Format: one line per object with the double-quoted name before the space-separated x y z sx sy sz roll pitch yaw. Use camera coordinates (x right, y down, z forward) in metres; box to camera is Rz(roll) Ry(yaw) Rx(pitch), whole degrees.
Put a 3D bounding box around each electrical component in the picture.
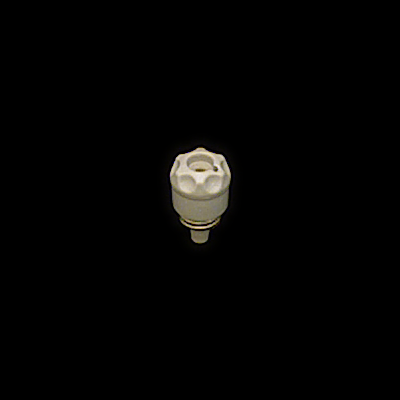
"electrical component" 0.000 0.000 0.636 0.035 0.062 0.035 0 43 0
